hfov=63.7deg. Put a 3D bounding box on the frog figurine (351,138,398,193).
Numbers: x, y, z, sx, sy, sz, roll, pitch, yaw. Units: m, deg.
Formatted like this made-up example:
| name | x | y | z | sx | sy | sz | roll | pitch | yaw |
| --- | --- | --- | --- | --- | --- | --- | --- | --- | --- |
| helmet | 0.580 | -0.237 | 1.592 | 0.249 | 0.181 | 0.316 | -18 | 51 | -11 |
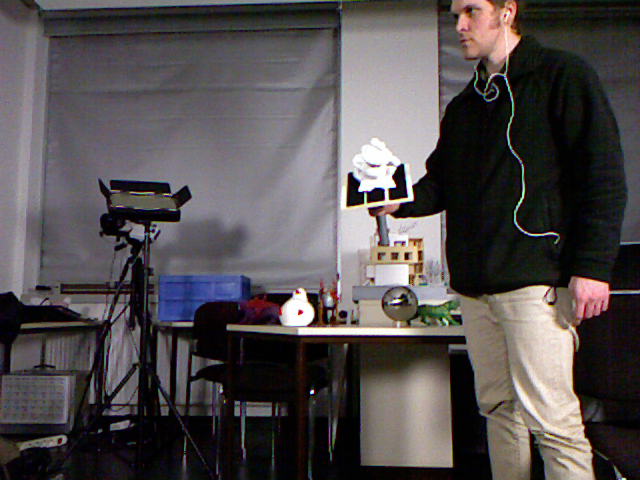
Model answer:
| name | x | y | z | sx | sy | sz | roll | pitch | yaw |
| --- | --- | --- | --- | --- | --- | --- | --- | --- | --- |
| frog figurine | 0.151 | -0.228 | 1.466 | 0.137 | 0.156 | 0.125 | 5 | 39 | 24 |
